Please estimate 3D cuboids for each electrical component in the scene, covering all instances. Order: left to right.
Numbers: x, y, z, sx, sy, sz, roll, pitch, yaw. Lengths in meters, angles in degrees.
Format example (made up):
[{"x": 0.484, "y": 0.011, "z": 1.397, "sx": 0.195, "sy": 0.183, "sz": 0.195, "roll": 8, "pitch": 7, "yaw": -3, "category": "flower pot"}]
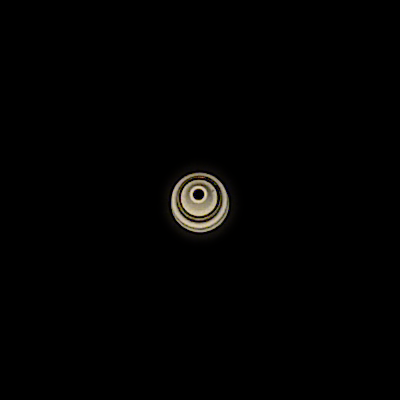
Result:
[{"x": 0.000, "y": 0.000, "z": 0.637, "sx": 0.035, "sy": 0.035, "sz": 0.061, "roll": 0, "pitch": -7, "yaw": 0, "category": "electrical component"}]
